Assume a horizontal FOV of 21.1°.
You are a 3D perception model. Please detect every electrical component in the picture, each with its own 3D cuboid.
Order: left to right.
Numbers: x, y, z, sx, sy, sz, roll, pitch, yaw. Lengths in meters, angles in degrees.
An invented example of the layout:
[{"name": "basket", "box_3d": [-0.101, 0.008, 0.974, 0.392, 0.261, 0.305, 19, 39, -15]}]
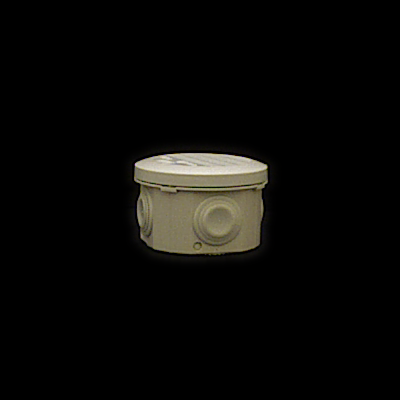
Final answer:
[{"name": "electrical component", "box_3d": [0.000, 0.000, 0.647, 0.080, 0.051, 0.079, 1, 10, 0]}]
